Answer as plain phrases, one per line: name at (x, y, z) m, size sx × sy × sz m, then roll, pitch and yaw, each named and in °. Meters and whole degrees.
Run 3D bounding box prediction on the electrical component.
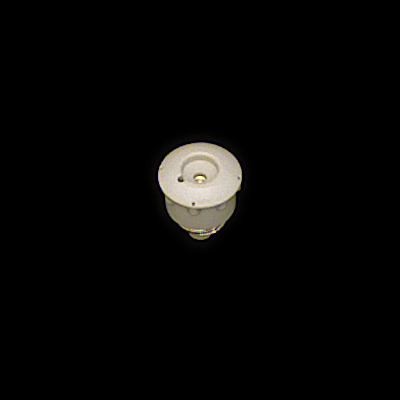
electrical component at (0.000, 0.000, 0.633) m, size 0.048 × 0.048 × 0.062 m, roll 0°, pitch -37°, yaw 0°
